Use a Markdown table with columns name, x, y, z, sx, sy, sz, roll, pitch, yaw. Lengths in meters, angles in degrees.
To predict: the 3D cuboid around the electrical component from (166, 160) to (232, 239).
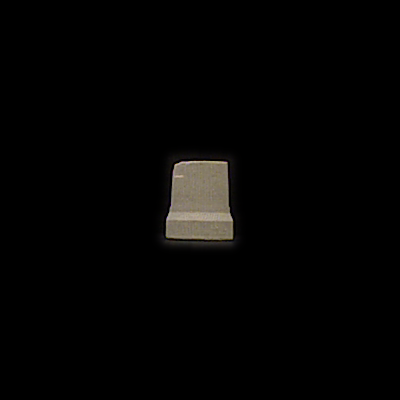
| name | x | y | z | sx | sy | sz | roll | pitch | yaw |
| --- | --- | --- | --- | --- | --- | --- | --- | --- | --- |
| electrical component | 0.000 | 0.000 | 0.651 | 0.040 | 0.046 | 0.040 | 2 | 1 | 0 |
